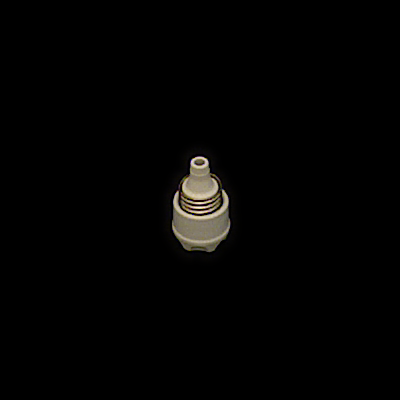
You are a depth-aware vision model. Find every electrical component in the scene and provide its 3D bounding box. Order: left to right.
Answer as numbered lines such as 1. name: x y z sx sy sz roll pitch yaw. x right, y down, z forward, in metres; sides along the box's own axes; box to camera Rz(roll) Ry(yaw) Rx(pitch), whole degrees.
1. electrical component: 0.000 0.000 0.641 0.035 0.062 0.035 -1 42 1
